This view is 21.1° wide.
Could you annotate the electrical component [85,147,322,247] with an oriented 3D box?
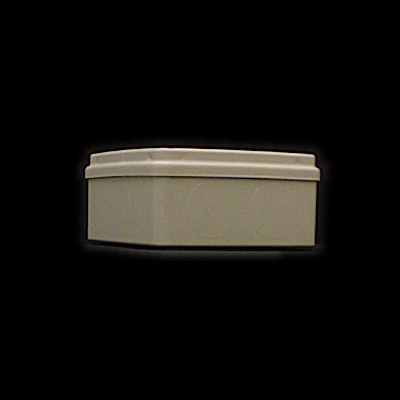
[{"bbox_3d":[0.000,0.000,0.648,0.109,0.056,0.108,1,0,-29],"label":"electrical component"}]
